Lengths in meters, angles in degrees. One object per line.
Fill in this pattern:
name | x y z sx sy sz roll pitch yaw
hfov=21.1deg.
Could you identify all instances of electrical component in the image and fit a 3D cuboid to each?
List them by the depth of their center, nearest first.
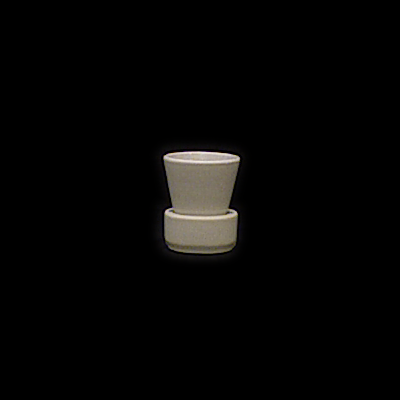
electrical component | 0.000 0.000 0.646 0.045 0.055 0.044 2 11 0
